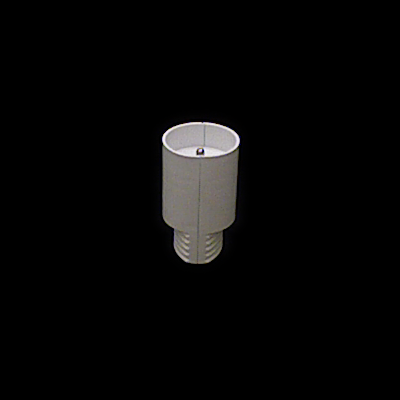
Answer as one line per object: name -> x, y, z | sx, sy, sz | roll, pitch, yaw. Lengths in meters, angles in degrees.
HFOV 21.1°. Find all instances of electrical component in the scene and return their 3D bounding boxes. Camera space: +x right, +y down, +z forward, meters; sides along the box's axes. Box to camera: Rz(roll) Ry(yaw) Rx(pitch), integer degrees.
electrical component -> 0.000, 0.000, 0.627 | 0.043, 0.082, 0.042 | 0, 32, 0
